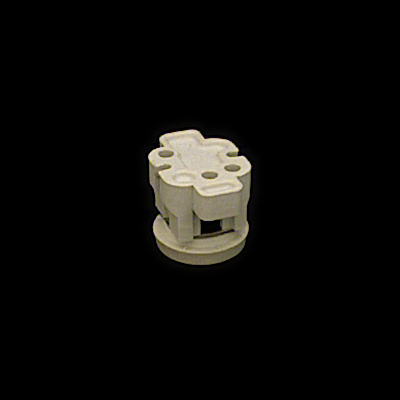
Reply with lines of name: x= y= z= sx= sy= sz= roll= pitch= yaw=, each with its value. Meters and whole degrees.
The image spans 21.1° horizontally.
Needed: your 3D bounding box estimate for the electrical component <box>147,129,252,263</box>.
electrical component: x=0.000 y=0.000 z=0.643 sx=0.058 sy=0.057 sz=0.077 roll=-12 pitch=33 yaw=-19
